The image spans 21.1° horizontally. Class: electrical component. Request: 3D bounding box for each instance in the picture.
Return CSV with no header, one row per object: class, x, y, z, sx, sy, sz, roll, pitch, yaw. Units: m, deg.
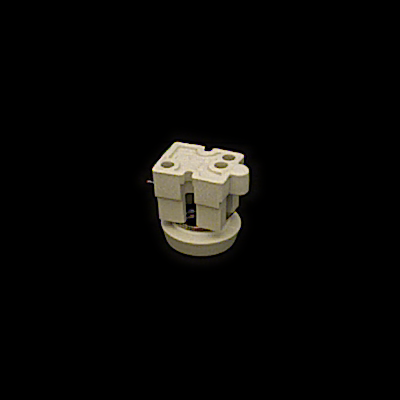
electrical component,0.000,0.000,0.644,0.066,0.056,0.048,12,35,18
